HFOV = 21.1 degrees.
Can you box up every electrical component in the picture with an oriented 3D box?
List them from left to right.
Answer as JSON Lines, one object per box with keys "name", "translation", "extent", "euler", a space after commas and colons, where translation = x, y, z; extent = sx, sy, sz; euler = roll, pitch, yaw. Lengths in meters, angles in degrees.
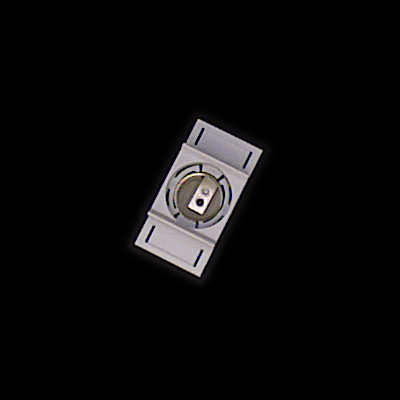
{"name": "electrical component", "translation": [0.000, 0.000, 0.625], "extent": [0.042, 0.081, 0.063], "euler": [27, -5, 4]}
